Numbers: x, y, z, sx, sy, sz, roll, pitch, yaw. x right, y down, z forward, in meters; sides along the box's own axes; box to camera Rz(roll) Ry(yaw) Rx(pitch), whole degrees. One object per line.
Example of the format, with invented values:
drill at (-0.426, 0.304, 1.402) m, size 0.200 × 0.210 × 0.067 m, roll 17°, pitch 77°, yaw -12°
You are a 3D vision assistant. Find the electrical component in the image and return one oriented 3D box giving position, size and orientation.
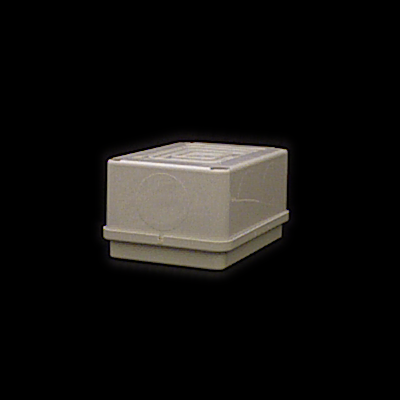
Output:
electrical component at (0.000, 0.000, 0.644) m, size 0.078 × 0.057 × 0.112 m, roll 6°, pitch 12°, yaw 22°
